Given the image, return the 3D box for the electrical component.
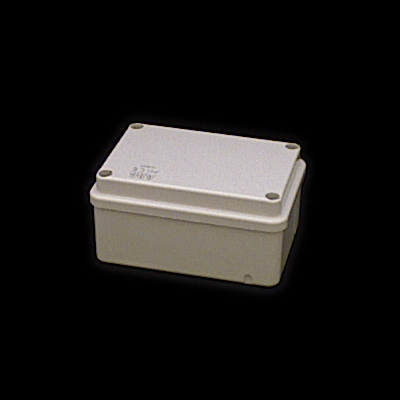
[{"bbox_3d":[0.000,0.000,0.632,0.113,0.058,0.077,8,32,11],"label":"electrical component"}]
